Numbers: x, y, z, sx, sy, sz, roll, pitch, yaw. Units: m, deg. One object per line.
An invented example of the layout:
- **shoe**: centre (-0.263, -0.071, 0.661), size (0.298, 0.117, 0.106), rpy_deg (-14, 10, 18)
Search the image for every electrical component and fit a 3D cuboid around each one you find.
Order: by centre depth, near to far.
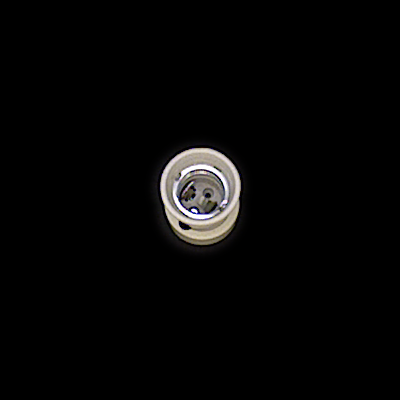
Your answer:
- **electrical component**: centre (0.000, 0.000, 0.628), size (0.045, 0.045, 0.055), rpy_deg (0, -17, 1)
